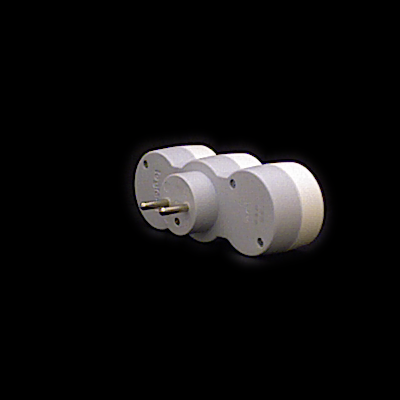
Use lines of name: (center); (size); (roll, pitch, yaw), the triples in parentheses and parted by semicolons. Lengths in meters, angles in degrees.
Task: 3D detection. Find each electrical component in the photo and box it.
electrical component: (0.000, 0.000, 0.643); (0.073, 0.052, 0.137); (-10, 16, -38)
